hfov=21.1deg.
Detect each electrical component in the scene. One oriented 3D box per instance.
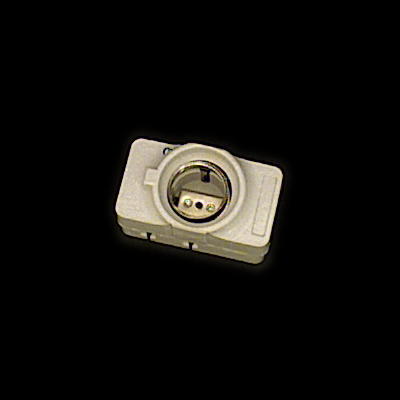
[{"bbox_3d":[0.000,0.000,0.636,0.089,0.050,0.055,12,-16,3],"label":"electrical component"}]
